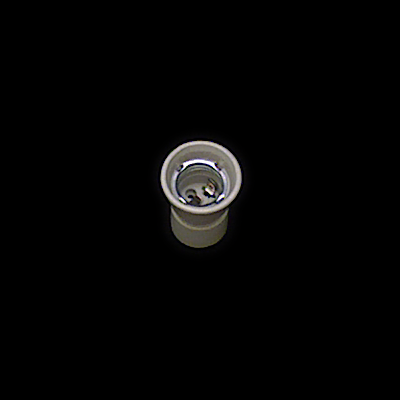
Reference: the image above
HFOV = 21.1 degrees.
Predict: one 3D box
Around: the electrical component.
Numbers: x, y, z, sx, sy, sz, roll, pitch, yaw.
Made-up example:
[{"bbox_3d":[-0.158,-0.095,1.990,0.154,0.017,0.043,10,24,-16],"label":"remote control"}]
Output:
[{"bbox_3d":[0.000,0.000,0.624,0.044,0.044,0.065,0,-27,-1],"label":"electrical component"}]
